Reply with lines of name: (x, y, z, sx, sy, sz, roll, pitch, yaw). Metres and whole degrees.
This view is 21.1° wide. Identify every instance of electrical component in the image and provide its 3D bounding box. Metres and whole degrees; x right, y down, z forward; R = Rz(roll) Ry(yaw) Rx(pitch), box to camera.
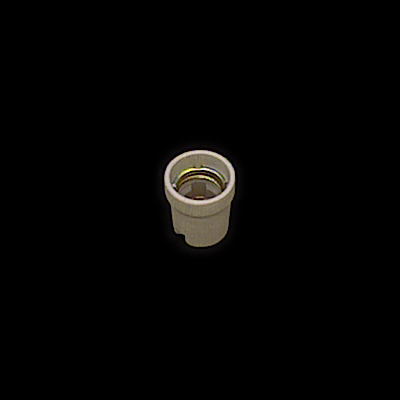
electrical component: (0.000, 0.000, 0.630, 0.040, 0.040, 0.046, 0, -38, -1)
